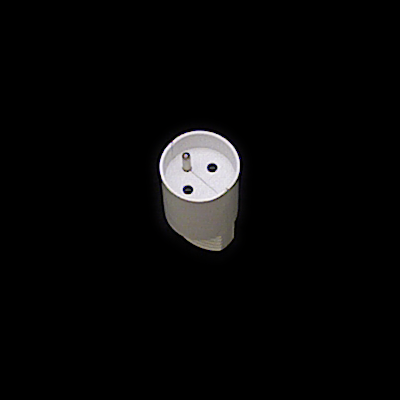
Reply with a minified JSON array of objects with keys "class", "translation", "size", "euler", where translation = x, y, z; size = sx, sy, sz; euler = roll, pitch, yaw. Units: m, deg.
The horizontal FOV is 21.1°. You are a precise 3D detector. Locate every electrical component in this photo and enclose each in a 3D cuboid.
[{"class":"electrical component","translation":[0.000,0.000,0.616],"size":[0.043,0.043,0.081],"euler":[0,-28,0]}]
